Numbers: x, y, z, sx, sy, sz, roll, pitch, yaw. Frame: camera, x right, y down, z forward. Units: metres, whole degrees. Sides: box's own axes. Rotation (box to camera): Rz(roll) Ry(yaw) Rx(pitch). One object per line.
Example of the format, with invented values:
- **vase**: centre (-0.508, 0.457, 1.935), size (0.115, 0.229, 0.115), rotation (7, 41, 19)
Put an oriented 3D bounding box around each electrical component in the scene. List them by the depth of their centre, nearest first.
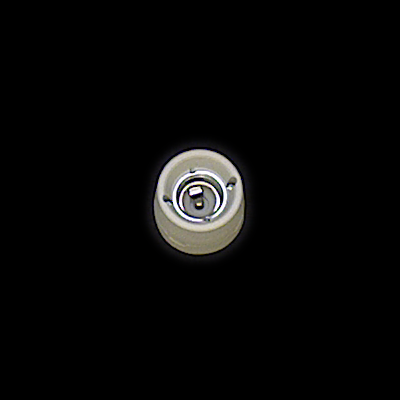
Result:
- **electrical component**: centre (0.000, 0.000, 0.633), size (0.055, 0.056, 0.047), rotation (0, -17, -1)
